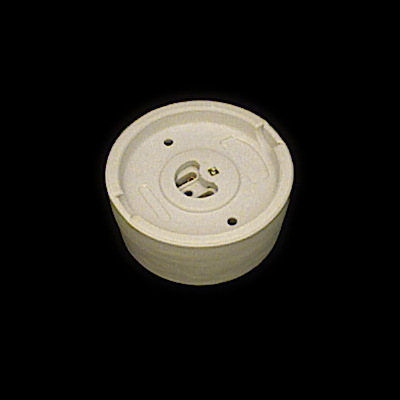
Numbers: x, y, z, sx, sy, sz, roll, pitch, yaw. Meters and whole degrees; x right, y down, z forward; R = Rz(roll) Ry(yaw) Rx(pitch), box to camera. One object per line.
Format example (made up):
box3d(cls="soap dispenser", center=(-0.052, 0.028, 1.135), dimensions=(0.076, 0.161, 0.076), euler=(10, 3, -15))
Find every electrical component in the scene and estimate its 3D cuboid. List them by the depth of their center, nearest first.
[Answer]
box3d(cls="electrical component", center=(0.000, 0.000, 0.638), dimensions=(0.108, 0.107, 0.061), euler=(0, -37, 0))
